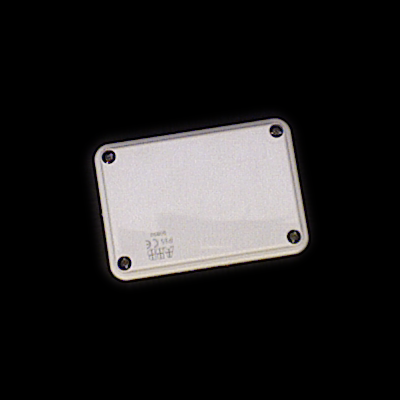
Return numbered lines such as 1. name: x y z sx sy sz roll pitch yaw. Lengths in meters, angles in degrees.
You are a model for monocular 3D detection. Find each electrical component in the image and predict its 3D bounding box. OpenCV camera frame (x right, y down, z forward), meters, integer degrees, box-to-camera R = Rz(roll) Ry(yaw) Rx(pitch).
1. electrical component: 0.000 0.000 0.627 0.113 0.078 0.057 -9 -7 -1
